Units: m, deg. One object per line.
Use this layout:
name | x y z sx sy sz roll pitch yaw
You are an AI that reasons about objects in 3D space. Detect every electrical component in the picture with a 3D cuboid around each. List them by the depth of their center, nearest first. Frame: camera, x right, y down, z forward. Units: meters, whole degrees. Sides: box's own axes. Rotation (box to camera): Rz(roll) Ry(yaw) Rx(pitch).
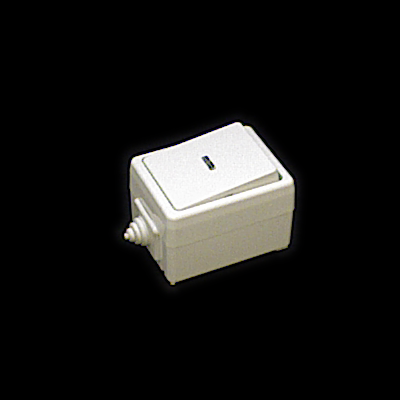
electrical component | 0.000 0.000 0.630 0.096 0.061 0.061 -17 45 -19
